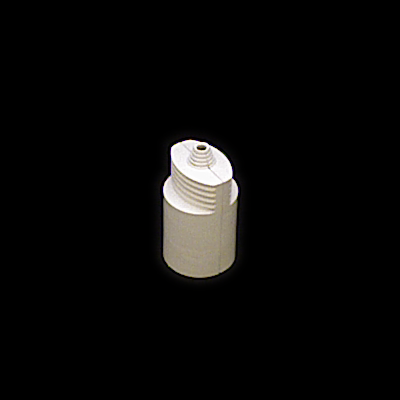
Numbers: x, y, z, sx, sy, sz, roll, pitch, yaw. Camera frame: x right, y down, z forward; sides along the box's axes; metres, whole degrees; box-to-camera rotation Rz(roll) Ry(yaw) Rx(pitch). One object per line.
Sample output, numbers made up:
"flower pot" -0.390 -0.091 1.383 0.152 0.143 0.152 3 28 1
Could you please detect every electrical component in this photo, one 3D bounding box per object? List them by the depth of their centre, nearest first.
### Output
"electrical component" 0.000 0.000 0.623 0.043 0.082 0.042 0 42 0
